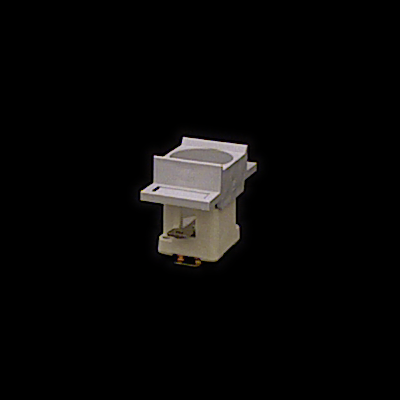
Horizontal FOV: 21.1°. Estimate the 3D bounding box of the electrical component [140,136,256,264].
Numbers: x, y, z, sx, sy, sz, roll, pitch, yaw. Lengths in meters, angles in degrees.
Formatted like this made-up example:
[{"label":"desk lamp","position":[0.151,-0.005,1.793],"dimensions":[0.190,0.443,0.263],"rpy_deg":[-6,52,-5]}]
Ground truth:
[{"label":"electrical component","position":[0.000,0.000,0.635],"dimensions":[0.042,0.064,0.080],"rpy_deg":[10,22,20]}]
